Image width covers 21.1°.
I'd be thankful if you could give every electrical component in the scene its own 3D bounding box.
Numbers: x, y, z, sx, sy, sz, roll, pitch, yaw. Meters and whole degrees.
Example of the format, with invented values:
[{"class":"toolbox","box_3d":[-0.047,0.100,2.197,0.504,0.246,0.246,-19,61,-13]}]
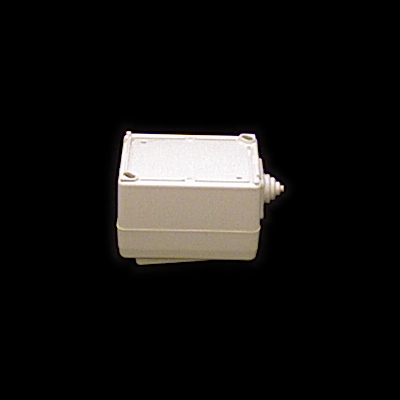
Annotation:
[{"class":"electrical component","box_3d":[0.000,0.000,0.633,0.096,0.061,0.061,1,31,-1]}]
